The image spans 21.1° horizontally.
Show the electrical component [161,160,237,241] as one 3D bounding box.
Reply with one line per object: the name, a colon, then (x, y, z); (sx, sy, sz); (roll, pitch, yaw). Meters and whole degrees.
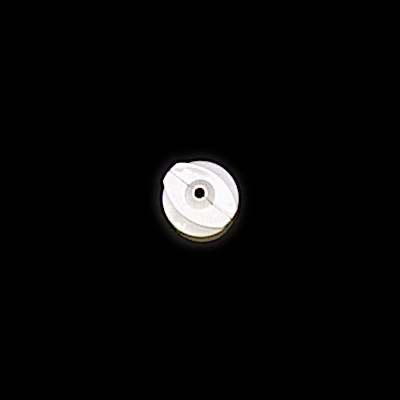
electrical component: (0.000, 0.000, 0.616); (0.043, 0.043, 0.080); (0, -6, 1)
